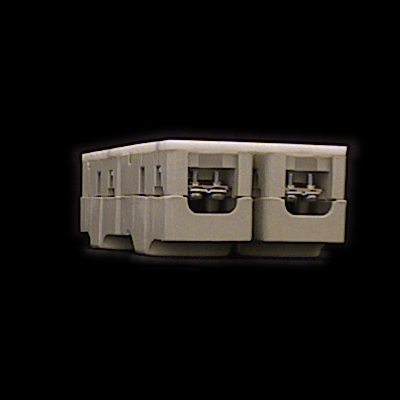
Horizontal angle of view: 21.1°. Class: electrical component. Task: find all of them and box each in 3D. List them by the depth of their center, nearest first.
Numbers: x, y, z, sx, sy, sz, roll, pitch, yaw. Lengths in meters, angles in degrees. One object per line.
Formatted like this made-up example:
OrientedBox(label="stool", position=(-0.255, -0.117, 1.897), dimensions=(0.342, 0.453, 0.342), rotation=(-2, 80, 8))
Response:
OrientedBox(label="electrical component", position=(0.000, 0.000, 0.650), dimensions=(0.106, 0.060, 0.186), rotation=(1, 0, -20))
